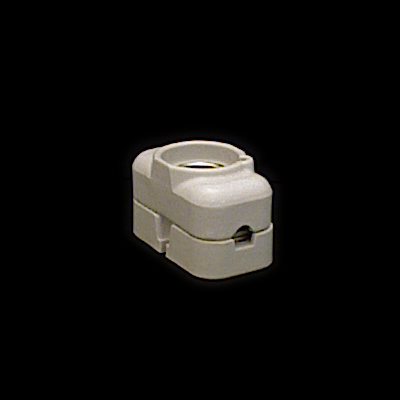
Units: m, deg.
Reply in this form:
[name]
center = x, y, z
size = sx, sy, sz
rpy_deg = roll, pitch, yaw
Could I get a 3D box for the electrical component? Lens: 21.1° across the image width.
[electrical component]
center = 0.000, 0.000, 0.646
size = 0.054, 0.060, 0.093
rpy_deg = -13, 26, -30
